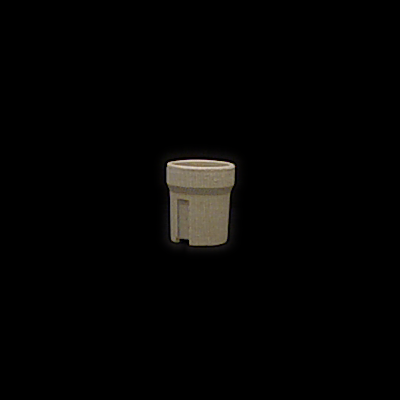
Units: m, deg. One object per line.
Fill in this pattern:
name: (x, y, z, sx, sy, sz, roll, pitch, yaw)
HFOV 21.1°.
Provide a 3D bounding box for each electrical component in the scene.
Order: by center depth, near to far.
electrical component: (0.000, 0.000, 0.646, 0.040, 0.046, 0.040, 1, 11, 0)
